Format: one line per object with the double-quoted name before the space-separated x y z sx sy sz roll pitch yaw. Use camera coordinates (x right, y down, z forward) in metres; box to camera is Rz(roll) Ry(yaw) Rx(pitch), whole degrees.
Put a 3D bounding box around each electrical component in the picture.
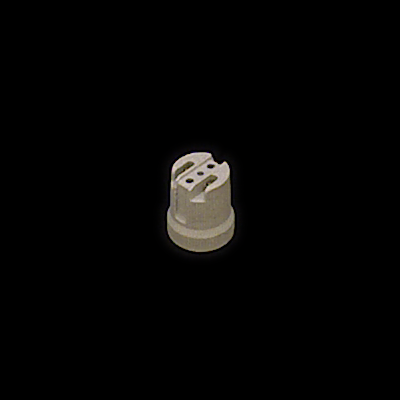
"electrical component" 0.000 0.000 0.635 0.040 0.046 0.040 0 42 0
